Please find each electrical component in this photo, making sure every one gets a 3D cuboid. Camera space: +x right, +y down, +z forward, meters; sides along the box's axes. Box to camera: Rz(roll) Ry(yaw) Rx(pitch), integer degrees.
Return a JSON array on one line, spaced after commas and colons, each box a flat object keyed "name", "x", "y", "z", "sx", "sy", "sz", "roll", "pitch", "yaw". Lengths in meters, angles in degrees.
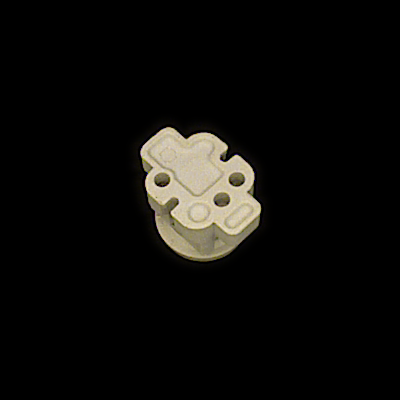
[{"name": "electrical component", "x": 0.000, "y": 0.000, "z": 0.635, "sx": 0.078, "sy": 0.058, "sz": 0.057, "roll": 41, "pitch": -19, "yaw": 19}]
